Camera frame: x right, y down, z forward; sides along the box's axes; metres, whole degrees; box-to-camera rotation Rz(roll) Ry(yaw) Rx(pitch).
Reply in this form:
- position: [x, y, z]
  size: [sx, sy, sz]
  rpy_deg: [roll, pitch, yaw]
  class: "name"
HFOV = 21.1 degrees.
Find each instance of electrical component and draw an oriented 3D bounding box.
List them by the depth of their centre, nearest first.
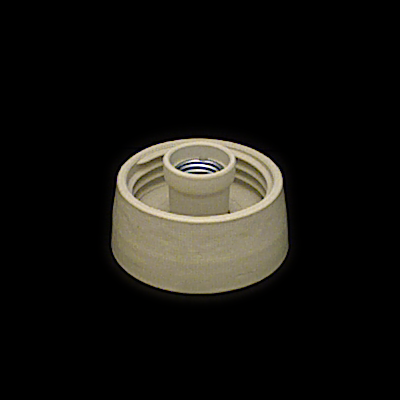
- position: [0.000, 0.000, 0.642]
  size: [0.108, 0.061, 0.106]
  rpy_deg: [1, 32, 0]
  class: "electrical component"
